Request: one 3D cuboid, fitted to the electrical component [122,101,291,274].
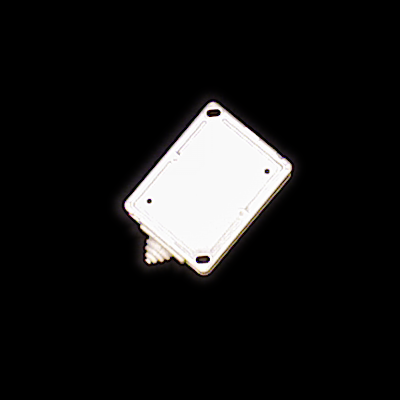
[{"bbox_3d":[0.000,0.000,0.629,0.062,0.096,0.061,40,-4,5],"label":"electrical component"}]
